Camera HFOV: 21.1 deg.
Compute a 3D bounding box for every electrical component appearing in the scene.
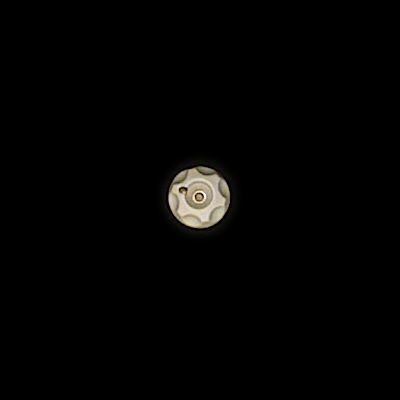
[{"bbox_3d":[0.000,0.000,0.635,0.035,0.035,0.061,0,-6,1],"label":"electrical component"}]
